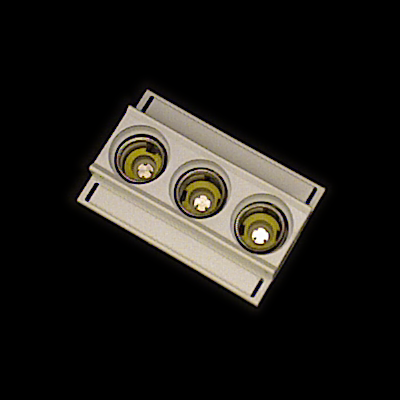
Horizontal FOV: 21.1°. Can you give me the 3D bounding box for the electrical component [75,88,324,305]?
[{"bbox_3d":[0.000,0.000,0.637,0.121,0.079,0.063,30,-12,9],"label":"electrical component"}]
